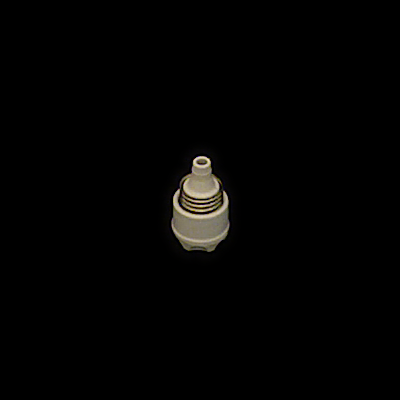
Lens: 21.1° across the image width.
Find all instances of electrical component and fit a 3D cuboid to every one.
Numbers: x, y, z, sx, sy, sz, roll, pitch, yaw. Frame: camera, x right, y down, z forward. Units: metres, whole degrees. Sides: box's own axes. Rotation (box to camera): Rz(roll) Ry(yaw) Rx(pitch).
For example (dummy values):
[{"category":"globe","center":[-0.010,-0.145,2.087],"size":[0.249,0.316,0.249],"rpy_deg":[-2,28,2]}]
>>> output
[{"category":"electrical component","center":[0.000,0.000,0.643],"size":[0.035,0.062,0.035],"rpy_deg":[1,42,-1]}]
